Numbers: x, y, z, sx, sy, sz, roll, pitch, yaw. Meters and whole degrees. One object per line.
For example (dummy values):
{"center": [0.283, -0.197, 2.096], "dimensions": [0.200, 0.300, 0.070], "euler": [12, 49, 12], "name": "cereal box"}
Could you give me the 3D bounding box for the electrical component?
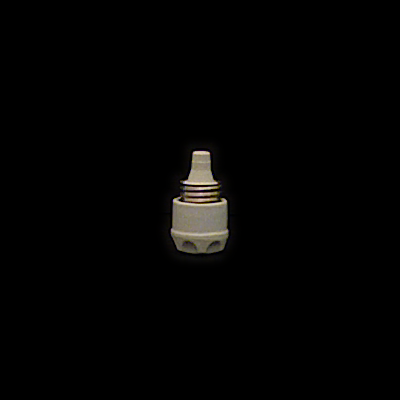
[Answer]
{"center": [0.000, 0.000, 0.656], "dimensions": [0.035, 0.062, 0.035], "euler": [2, 11, 0], "name": "electrical component"}
